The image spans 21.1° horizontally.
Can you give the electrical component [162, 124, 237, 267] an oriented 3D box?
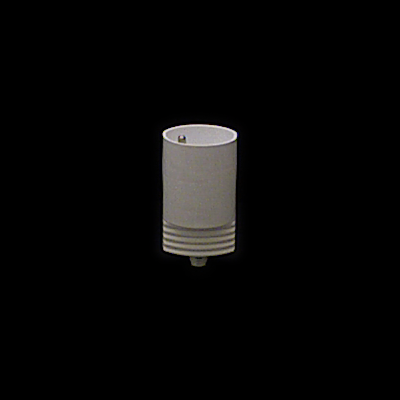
[{"bbox_3d":[0.000,0.000,0.632,0.043,0.082,0.042,0,20,0],"label":"electrical component"}]
